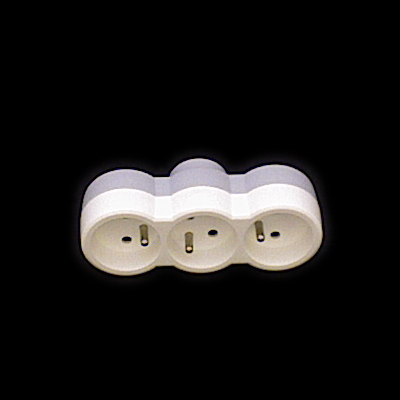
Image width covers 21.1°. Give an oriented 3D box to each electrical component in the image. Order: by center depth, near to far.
[{"bbox_3d":[0.000,0.000,0.633,0.138,0.052,0.073,-2,40,-2],"label":"electrical component"}]
